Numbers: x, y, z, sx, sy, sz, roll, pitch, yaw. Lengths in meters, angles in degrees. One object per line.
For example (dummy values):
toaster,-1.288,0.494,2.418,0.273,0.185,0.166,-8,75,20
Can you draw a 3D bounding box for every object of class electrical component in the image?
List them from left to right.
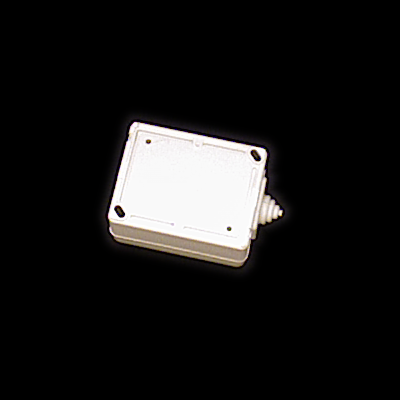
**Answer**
electrical component,0.000,0.000,0.627,0.096,0.062,0.060,12,-16,3
